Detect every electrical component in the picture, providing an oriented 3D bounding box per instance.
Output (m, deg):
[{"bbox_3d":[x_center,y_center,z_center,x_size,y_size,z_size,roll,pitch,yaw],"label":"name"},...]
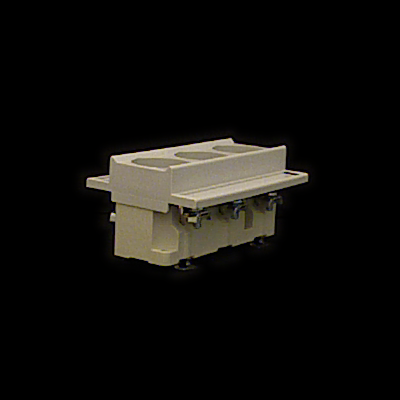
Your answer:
[{"bbox_3d":[0.000,0.000,0.657,0.078,0.063,0.121,11,14,35],"label":"electrical component"}]
